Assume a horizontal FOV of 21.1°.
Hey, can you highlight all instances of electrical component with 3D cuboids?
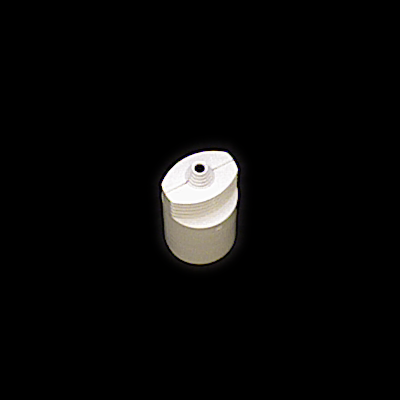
[{"bbox_3d":[0.000,0.000,0.617,0.043,0.043,0.081,0,-27,0],"label":"electrical component"}]
